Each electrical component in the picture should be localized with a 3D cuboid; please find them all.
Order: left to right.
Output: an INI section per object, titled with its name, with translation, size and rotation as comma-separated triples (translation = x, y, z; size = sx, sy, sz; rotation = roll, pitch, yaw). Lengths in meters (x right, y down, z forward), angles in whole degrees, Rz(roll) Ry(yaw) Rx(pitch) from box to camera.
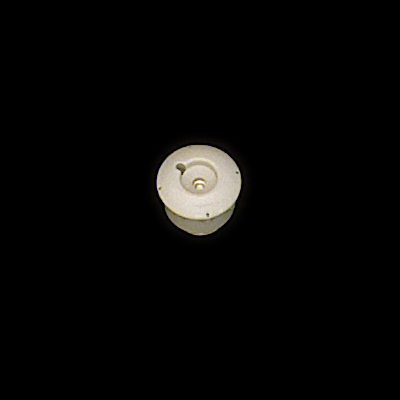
[electrical component]
translation = 0.000, 0.000, 0.632
size = 0.048, 0.048, 0.062
rotation = 0, -27, 0
